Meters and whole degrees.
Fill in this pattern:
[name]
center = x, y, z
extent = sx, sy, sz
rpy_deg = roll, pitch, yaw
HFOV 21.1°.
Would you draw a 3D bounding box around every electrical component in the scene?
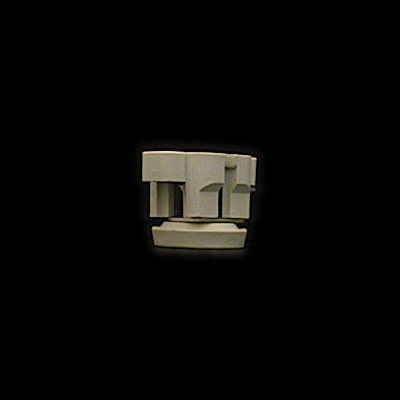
[electrical component]
center = 0.000, 0.000, 0.659
extent = 0.057, 0.057, 0.079
rpy_deg = 2, -1, 45
